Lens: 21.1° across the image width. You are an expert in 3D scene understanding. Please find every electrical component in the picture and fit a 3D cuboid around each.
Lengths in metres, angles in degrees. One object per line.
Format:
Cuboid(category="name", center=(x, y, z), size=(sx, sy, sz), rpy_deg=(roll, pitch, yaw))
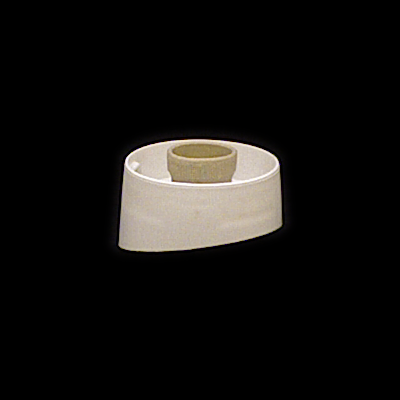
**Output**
Cuboid(category="electrical component", center=(0.000, 0.000, 0.638), size=(0.099, 0.065, 0.097), rpy_deg=(1, 20, 0))
